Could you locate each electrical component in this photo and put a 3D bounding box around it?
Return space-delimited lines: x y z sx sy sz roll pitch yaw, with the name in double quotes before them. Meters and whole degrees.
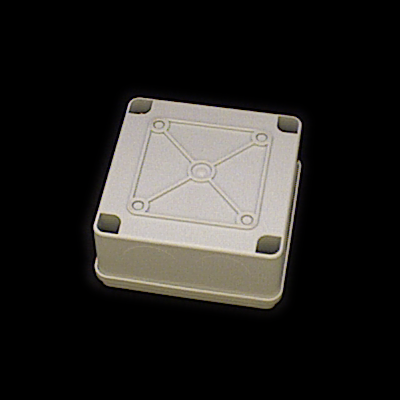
"electrical component" 0.000 0.000 0.630 0.108 0.108 0.056 8 -37 6
